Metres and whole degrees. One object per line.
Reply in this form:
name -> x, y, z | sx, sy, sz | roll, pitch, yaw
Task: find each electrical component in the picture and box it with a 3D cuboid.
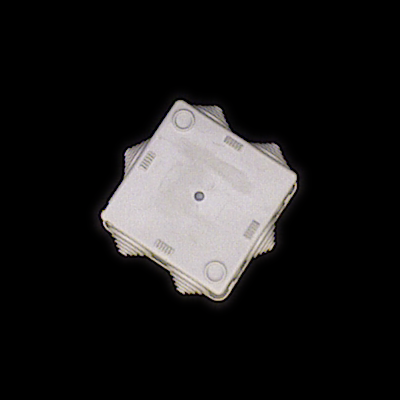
electrical component -> 0.000, 0.000, 0.632 | 0.100, 0.100, 0.048 | 33, -6, 4
